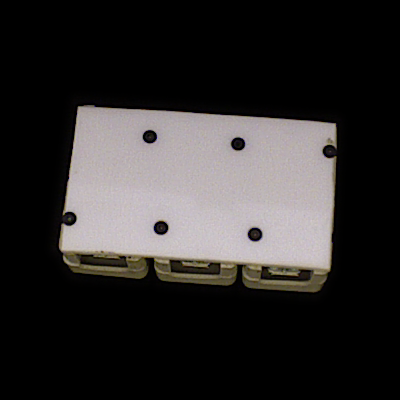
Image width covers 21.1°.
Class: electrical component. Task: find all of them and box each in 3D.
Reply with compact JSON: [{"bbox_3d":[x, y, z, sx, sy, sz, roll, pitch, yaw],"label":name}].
[{"bbox_3d":[0.000,0.000,0.630,0.150,0.089,0.062,5,-17,2],"label":"electrical component"}]
